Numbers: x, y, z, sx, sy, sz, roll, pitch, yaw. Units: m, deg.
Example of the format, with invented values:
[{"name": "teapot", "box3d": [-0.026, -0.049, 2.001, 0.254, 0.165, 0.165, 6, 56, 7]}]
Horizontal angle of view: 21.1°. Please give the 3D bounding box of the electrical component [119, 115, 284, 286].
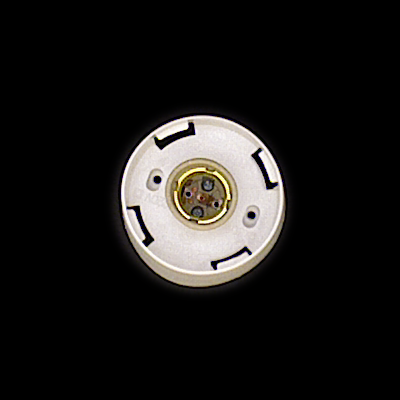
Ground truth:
[{"name": "electrical component", "box3d": [0.000, 0.000, 0.626, 0.099, 0.099, 0.064, 0, -6, 0]}]
